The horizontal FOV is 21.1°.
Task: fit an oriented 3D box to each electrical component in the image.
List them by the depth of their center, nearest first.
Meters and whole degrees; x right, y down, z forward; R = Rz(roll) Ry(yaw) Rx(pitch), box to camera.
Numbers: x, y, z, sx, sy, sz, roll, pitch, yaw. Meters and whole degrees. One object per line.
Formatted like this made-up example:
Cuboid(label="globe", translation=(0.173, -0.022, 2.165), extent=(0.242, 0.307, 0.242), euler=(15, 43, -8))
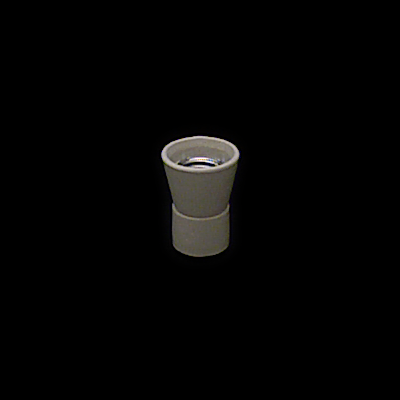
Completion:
Cuboid(label="electrical component", translation=(0.000, 0.000, 0.634), extent=(0.044, 0.066, 0.044), euler=(0, 31, 0))
